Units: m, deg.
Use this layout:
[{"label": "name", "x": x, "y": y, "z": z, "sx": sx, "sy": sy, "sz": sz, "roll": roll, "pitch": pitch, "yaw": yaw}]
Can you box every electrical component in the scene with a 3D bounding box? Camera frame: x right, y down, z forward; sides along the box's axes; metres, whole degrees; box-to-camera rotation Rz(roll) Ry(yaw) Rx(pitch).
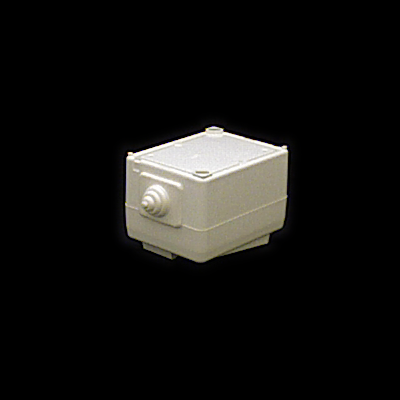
[{"label": "electrical component", "x": -0.001, "y": 0.000, "z": 0.632, "sx": 0.061, "sy": 0.061, "sz": 0.096, "roll": 19, "pitch": 26, "yaw": 37}]
